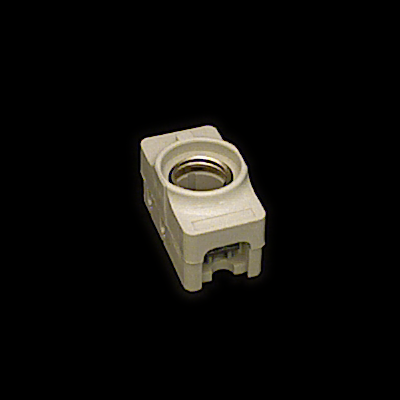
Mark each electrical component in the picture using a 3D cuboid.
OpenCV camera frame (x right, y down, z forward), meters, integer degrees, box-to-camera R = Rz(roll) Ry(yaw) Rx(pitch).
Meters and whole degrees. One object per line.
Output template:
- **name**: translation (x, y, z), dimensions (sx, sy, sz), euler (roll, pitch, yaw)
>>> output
- **electrical component**: translation (0.000, 0.000, 0.639), dimensions (0.050, 0.056, 0.088), euler (-14, 45, -15)
